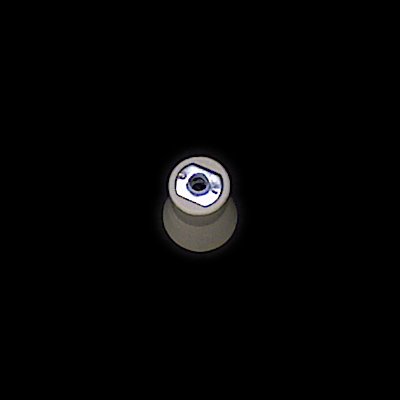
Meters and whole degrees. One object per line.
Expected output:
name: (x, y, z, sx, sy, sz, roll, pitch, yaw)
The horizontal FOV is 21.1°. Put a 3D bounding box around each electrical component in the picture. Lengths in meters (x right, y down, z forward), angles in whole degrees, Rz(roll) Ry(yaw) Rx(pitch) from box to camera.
electrical component: (0.000, 0.000, 0.625, 0.044, 0.044, 0.065, 0, -18, 0)
